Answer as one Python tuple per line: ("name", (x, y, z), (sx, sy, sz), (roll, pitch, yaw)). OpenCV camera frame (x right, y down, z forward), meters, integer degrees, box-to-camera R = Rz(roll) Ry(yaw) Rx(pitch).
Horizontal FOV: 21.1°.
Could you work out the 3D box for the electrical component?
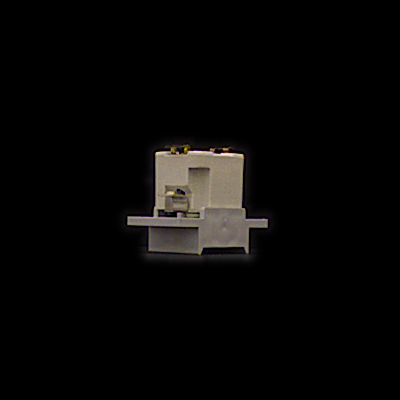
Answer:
("electrical component", (0.000, 0.000, 0.649), (0.042, 0.064, 0.081), (2, 1, 41))
